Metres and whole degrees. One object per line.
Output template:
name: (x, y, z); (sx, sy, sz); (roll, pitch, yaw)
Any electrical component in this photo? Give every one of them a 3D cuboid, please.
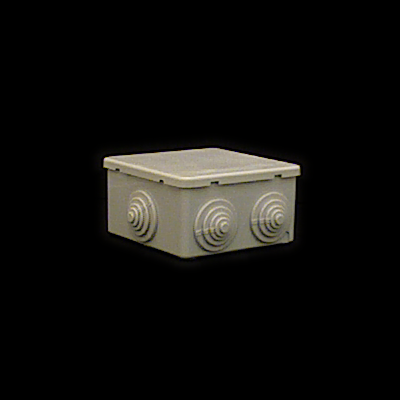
electrical component: (0.000, 0.000, 0.651); (0.100, 0.049, 0.098); (-7, 14, -36)
